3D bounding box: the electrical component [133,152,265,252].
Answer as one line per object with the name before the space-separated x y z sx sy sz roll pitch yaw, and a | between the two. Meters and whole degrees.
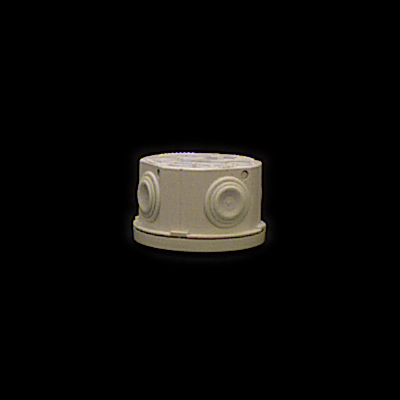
electrical component | 0.000 0.000 0.647 0.080 0.051 0.079 1 10 0
